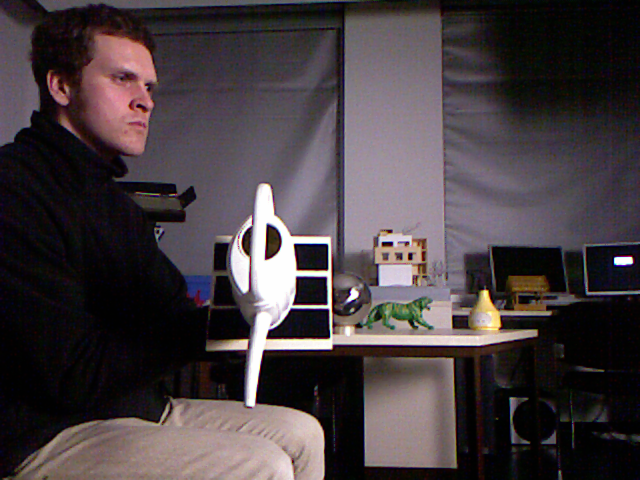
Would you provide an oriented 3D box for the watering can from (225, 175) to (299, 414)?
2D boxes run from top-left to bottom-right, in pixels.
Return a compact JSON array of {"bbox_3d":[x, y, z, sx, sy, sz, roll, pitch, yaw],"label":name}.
[{"bbox_3d":[-0.088,0.078,0.770,0.104,0.356,0.221,1,-23,1],"label":"watering can"}]
